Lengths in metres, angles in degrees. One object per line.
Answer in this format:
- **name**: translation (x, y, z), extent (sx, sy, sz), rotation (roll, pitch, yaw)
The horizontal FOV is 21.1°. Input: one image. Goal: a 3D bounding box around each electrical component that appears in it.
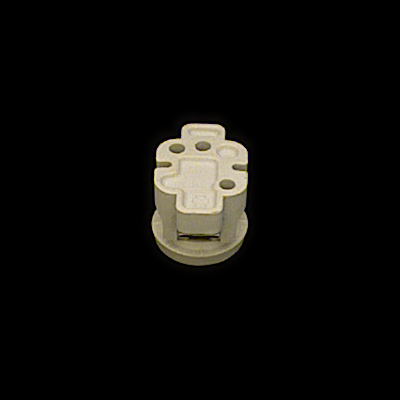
- **electrical component**: translation (0.000, 0.000, 0.638), extent (0.058, 0.057, 0.078), rotation (2, 44, 0)
